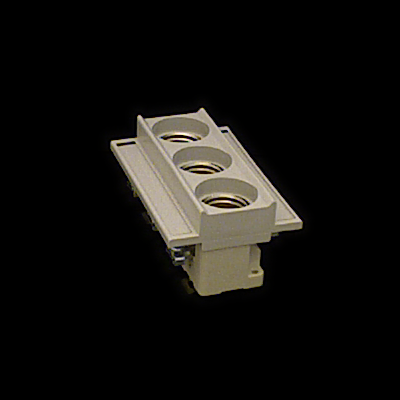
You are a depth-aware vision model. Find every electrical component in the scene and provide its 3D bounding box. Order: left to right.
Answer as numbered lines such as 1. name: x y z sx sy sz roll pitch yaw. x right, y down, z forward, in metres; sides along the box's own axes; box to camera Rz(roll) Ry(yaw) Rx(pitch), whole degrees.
1. electrical component: 0.000 0.000 0.648 0.079 0.064 0.119 -9 33 -17
